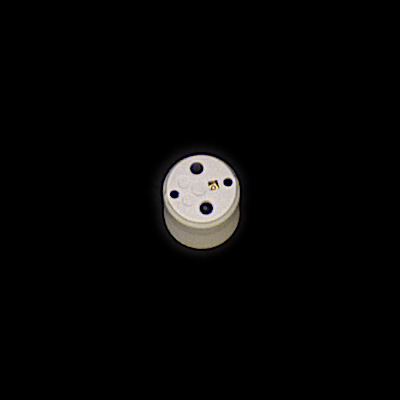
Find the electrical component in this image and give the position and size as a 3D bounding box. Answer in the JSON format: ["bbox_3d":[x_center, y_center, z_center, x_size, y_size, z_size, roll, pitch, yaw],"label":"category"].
[{"bbox_3d":[0.000,0.000,0.628,0.045,0.045,0.055,0,-16,1],"label":"electrical component"}]
